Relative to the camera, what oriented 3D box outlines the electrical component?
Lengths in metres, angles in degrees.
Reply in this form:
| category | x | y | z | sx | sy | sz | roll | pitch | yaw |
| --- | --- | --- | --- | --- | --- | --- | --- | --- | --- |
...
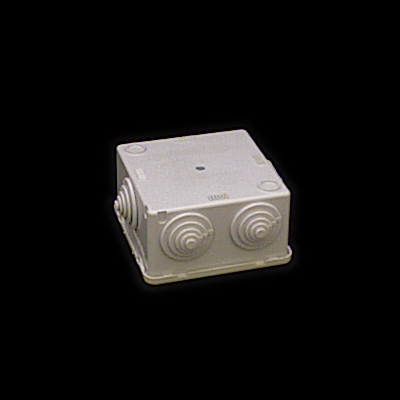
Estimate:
| category | x | y | z | sx | sy | sz | roll | pitch | yaw |
| --- | --- | --- | --- | --- | --- | --- | --- | --- | --- |
| electrical component | 0.000 | 0.000 | 0.636 | 0.100 | 0.049 | 0.098 | -8 | 33 | -15 |
